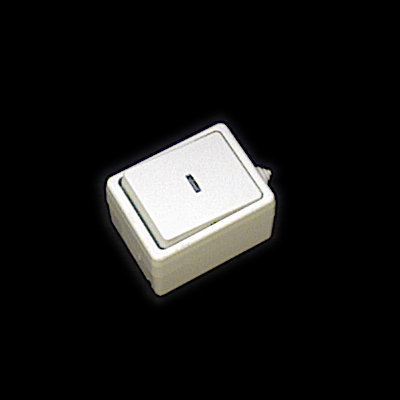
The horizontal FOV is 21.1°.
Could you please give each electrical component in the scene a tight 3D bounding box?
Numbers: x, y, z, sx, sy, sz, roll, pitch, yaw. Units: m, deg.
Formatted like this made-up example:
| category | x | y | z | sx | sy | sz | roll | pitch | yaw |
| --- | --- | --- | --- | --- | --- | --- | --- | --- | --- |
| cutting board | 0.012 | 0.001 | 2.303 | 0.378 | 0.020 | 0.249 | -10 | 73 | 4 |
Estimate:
| category | x | y | z | sx | sy | sz | roll | pitch | yaw |
| --- | --- | --- | --- | --- | --- | --- | --- | --- | --- |
| electrical component | 0.000 | 0.000 | 0.626 | 0.096 | 0.062 | 0.061 | -27 | -24 | -14 |
